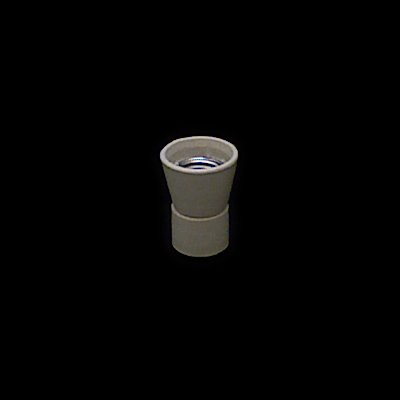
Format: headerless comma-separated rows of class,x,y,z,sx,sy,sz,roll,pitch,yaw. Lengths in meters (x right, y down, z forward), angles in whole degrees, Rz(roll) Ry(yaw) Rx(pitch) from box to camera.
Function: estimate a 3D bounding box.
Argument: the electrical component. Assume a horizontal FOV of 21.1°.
electrical component,0.000,0.000,0.633,0.044,0.066,0.044,0,31,0
